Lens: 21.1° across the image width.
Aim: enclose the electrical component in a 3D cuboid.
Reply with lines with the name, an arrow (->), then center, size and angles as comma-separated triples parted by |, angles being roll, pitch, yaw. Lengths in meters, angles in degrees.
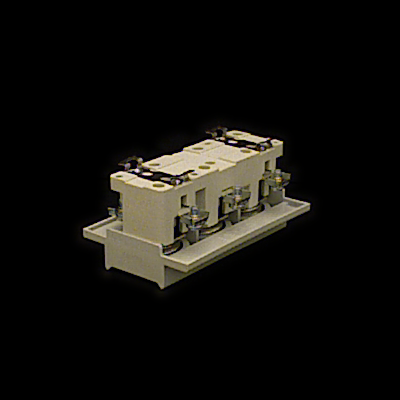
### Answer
electrical component -> 0.000, 0.000, 0.647 | 0.077, 0.064, 0.122 | 16, 26, 35
